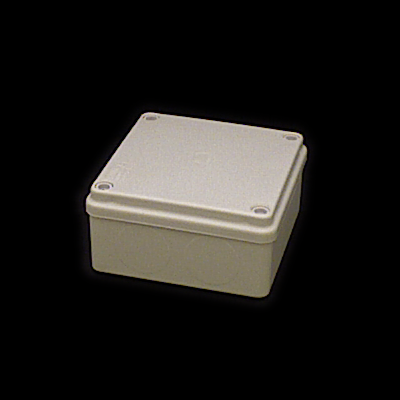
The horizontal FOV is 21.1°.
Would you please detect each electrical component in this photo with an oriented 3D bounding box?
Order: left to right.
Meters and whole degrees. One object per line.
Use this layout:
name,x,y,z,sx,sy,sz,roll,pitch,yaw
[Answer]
electrical component,0.000,0.000,0.636,0.108,0.057,0.107,9,32,12
